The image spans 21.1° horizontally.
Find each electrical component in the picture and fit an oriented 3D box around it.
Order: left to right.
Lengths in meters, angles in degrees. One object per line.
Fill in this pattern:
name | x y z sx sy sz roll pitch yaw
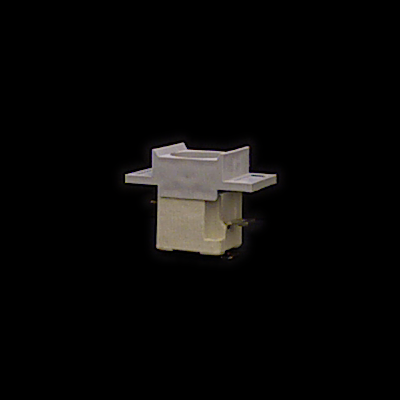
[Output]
electrical component | 0.000 0.000 0.643 0.081 0.064 0.042 5 11 24
